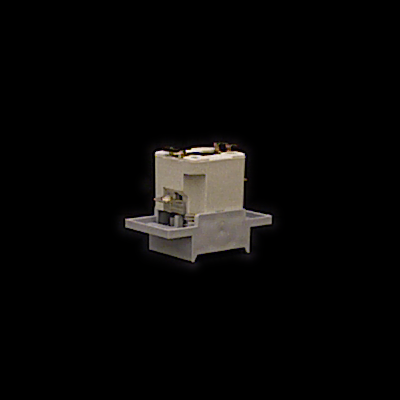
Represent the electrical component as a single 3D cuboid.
[{"bbox_3d":[0.000,0.000,0.643,0.081,0.064,0.042,-7,14,-40],"label":"electrical component"}]
